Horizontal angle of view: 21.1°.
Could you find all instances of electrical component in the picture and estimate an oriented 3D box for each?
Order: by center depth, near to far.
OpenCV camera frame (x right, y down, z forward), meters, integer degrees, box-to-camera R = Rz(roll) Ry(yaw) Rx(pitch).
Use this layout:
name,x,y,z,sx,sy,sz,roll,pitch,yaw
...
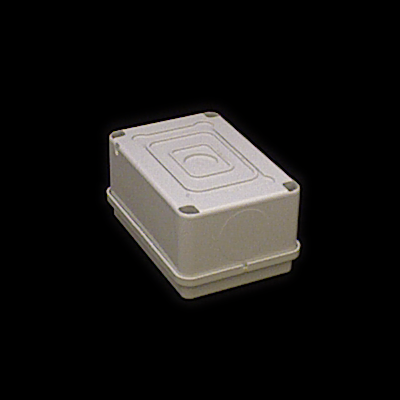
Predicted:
name,x,y,z,sx,sy,sz,roll,pitch,yaw
electrical component,0.000,0.000,0.635,0.078,0.058,0.111,-14,35,-23
